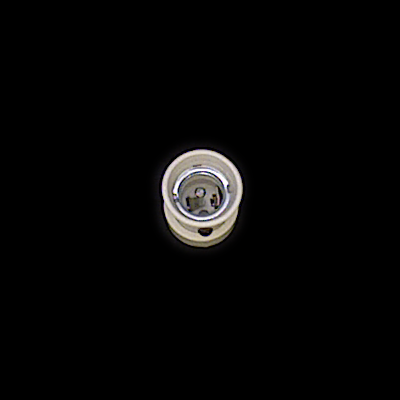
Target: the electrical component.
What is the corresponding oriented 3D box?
[{"bbox_3d":[0.000,0.000,0.628,0.045,0.045,0.055,0,-17,0],"label":"electrical component"}]
